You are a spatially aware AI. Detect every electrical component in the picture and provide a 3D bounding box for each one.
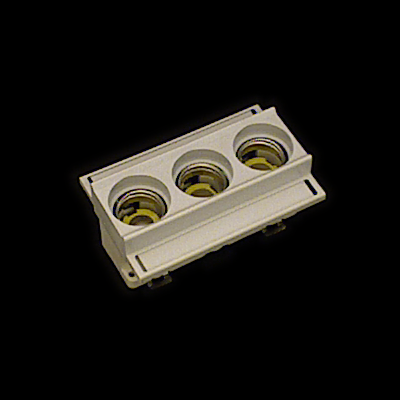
[{"bbox_3d":[0.000,0.000,0.639,0.121,0.078,0.063,-23,-32,-17],"label":"electrical component"}]
